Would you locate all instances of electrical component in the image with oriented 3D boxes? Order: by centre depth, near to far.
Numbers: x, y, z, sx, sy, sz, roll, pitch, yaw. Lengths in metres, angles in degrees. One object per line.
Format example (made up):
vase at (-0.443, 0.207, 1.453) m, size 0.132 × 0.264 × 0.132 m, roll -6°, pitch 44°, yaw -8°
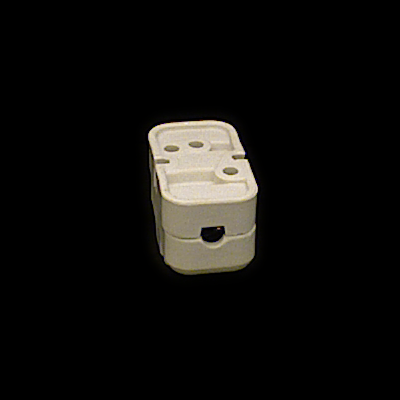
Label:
electrical component at (0.000, 0.000, 0.640) m, size 0.054 × 0.060 × 0.093 m, roll -4°, pitch 33°, yaw -8°
